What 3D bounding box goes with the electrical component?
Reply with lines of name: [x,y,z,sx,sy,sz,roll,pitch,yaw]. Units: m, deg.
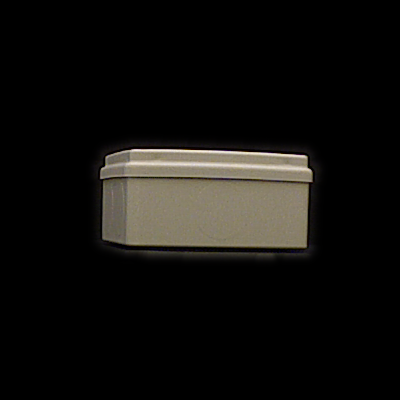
electrical component: [0.000,0.000,0.648,0.109,0.056,0.108,1,0,-14]
